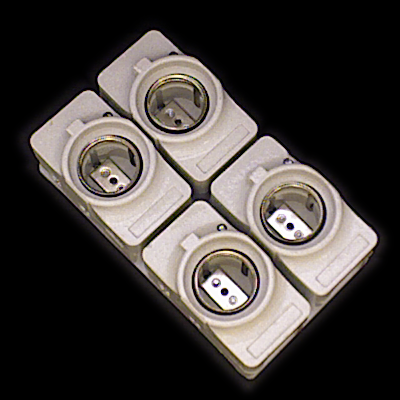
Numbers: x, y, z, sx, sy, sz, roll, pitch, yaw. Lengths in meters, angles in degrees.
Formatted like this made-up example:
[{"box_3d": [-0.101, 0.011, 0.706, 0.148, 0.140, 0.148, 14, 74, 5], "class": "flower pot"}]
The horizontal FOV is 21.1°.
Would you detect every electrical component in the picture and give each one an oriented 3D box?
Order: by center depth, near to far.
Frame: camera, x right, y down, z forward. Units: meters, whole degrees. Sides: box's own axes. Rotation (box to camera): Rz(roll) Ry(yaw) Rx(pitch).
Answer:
[{"box_3d": [0.000, 0.000, 0.625, 0.106, 0.186, 0.060, -43, -13, -12], "class": "electrical component"}]
